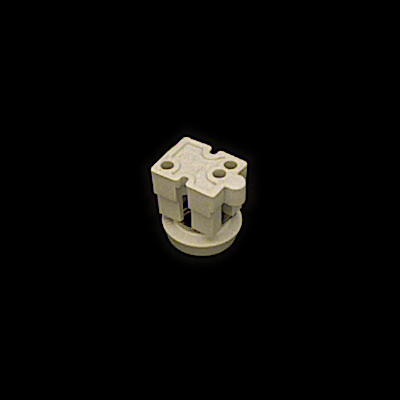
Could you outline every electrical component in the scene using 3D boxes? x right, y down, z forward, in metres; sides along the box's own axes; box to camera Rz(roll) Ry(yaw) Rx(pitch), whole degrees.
[{"bbox_3d":[0.000,0.000,0.641,0.066,0.056,0.048,25,49,25],"label":"electrical component"}]
